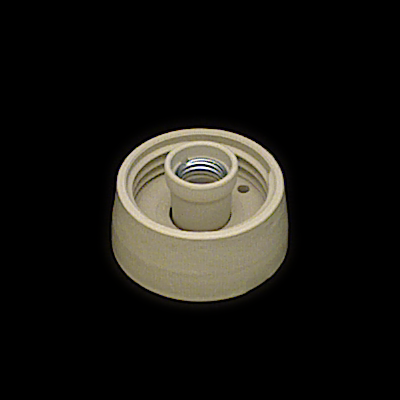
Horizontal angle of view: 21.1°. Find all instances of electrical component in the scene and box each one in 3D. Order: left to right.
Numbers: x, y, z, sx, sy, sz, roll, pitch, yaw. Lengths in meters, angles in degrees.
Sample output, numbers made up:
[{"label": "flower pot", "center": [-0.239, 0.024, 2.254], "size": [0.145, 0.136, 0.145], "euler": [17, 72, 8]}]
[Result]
[{"label": "electrical component", "center": [0.000, 0.000, 0.637], "size": [0.108, 0.061, 0.107], "euler": [1, 42, 0]}]
